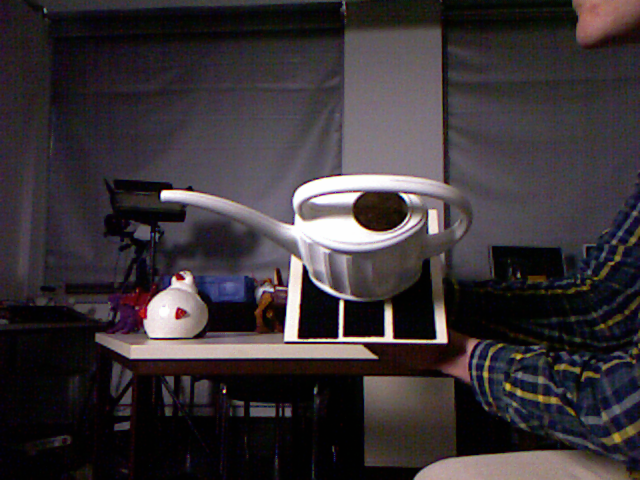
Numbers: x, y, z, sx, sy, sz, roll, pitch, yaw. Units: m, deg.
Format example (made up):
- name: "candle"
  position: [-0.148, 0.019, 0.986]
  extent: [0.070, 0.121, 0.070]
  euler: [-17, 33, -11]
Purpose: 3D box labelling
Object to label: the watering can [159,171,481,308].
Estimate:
- name: "watering can"
  position: [0.007, -0.006, 0.619]
  extent: [0.351, 0.107, 0.221]
  euler: [0, -34, 5]
